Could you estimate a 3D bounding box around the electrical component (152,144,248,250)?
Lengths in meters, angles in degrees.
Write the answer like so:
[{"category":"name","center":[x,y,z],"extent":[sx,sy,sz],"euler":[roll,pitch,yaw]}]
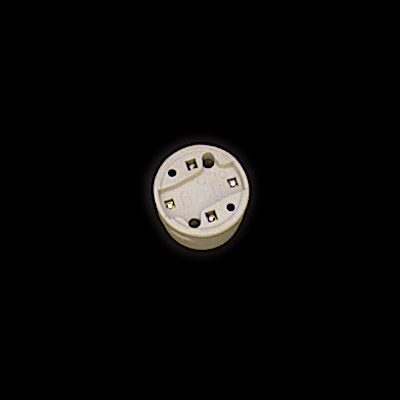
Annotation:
[{"category":"electrical component","center":[0.000,0.000,0.635],"extent":[0.055,0.056,0.047],"euler":[0,-17,0]}]
